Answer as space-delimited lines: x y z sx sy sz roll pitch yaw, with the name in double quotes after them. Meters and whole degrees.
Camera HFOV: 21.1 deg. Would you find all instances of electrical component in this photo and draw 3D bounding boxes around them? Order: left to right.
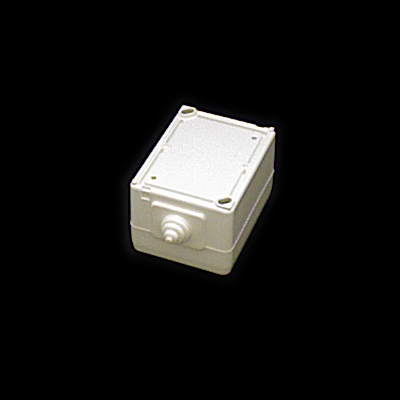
-0.001 0.000 0.624 0.061 0.061 0.096 15 43 15 "electrical component"
